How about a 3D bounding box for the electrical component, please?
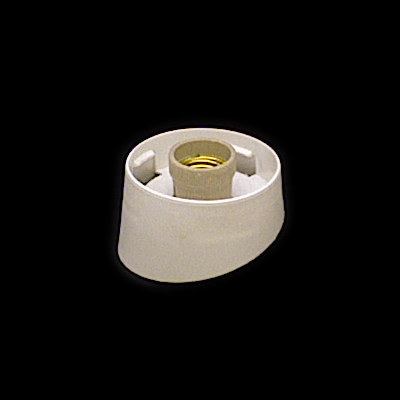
[{"bbox_3d":[0.000,0.000,0.634,0.099,0.065,0.097,0,31,0],"label":"electrical component"}]
